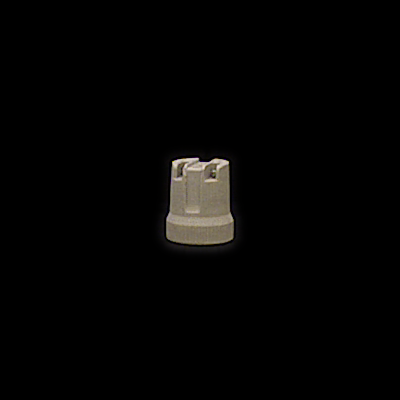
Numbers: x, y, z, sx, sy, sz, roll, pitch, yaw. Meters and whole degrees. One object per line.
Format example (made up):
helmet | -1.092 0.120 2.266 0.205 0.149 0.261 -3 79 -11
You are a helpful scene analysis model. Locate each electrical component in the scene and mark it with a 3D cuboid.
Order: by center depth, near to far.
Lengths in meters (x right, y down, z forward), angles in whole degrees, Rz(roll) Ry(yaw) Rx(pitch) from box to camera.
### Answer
electrical component | 0.000 0.000 0.645 0.040 0.046 0.040 1 11 0
